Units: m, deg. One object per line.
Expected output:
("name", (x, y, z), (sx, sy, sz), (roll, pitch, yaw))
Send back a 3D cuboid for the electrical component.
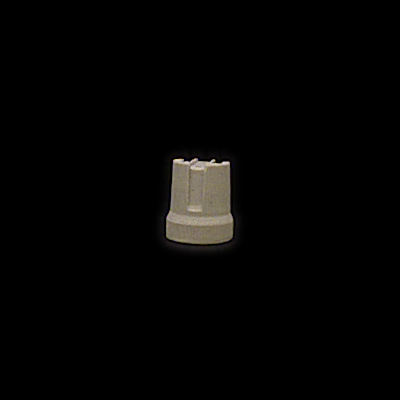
("electrical component", (0.000, 0.000, 0.647), (0.040, 0.046, 0.040), (2, 12, 0))
